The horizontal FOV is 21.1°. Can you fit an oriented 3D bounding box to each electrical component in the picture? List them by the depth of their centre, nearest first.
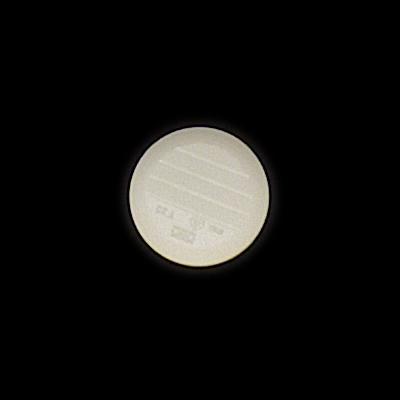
[{"bbox_3d":[0.000,0.000,0.631,0.080,0.080,0.050,0,-7,0],"label":"electrical component"}]
